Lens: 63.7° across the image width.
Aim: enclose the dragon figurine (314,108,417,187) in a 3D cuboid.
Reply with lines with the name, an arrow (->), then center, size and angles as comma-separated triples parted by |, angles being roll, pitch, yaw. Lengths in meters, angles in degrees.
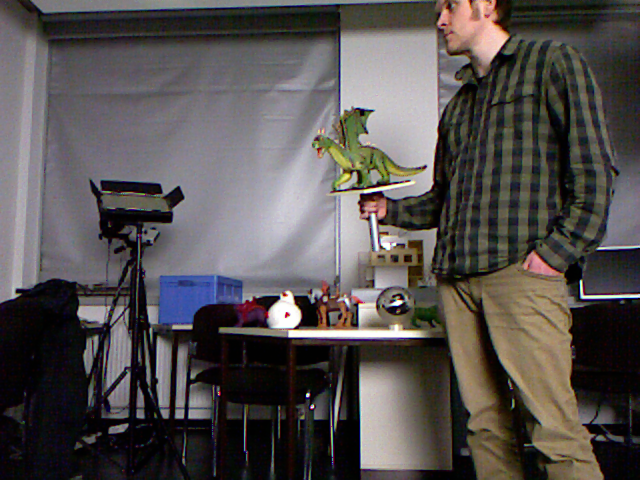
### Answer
dragon figurine -> 0.143, -0.293, 1.621 | 0.415, 0.242, 0.122 | -16, 10, -36
